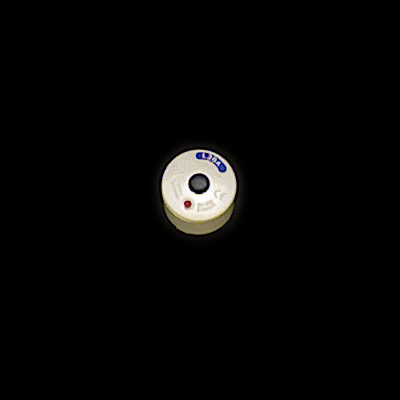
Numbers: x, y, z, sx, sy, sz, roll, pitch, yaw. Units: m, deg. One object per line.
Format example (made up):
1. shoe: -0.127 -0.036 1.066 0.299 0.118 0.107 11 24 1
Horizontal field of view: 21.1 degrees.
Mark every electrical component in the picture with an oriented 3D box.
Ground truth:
1. electrical component: 0.000 0.000 0.616 0.040 0.040 0.078 0 -16 0
